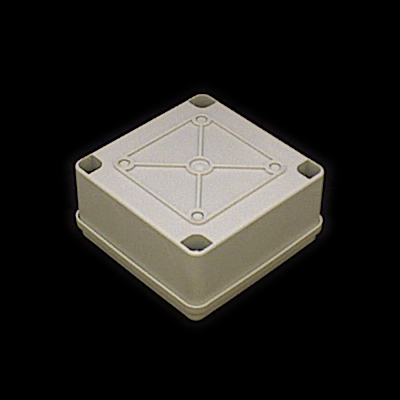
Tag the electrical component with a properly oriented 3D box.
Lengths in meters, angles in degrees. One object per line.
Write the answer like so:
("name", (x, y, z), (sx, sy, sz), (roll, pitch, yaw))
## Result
("electrical component", (0.000, 0.000, 0.630), (0.108, 0.056, 0.108), (-32, 52, -31))
